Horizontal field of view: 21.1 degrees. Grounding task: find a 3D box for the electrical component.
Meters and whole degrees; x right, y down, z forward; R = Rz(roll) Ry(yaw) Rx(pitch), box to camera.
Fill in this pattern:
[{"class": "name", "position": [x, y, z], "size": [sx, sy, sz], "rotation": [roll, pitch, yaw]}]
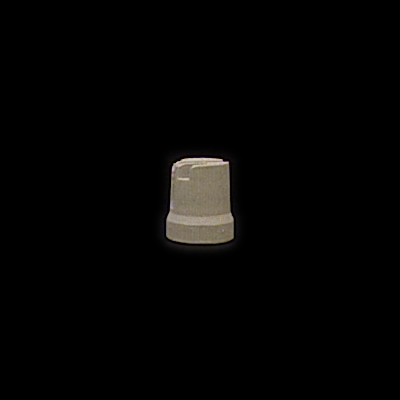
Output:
[{"class": "electrical component", "position": [0.000, 0.000, 0.646], "size": [0.040, 0.046, 0.040], "rotation": [1, 11, 0]}]
